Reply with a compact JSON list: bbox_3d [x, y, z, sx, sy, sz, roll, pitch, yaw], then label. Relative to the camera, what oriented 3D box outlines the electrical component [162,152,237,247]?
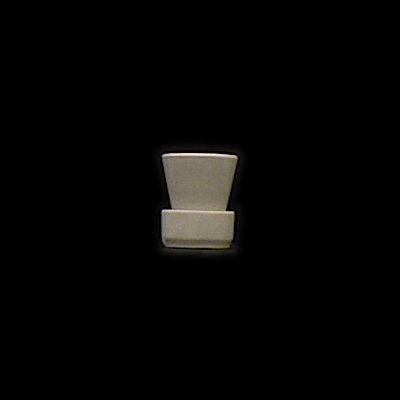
[{"bbox_3d":[0.000,0.000,0.649,0.045,0.055,0.044,1,2,0],"label":"electrical component"}]
